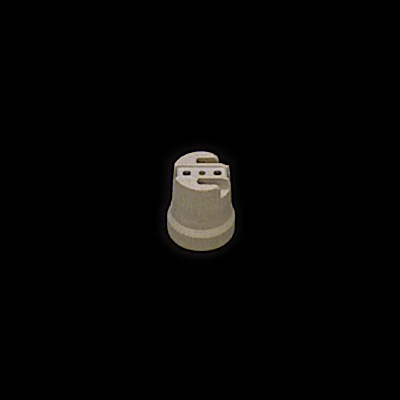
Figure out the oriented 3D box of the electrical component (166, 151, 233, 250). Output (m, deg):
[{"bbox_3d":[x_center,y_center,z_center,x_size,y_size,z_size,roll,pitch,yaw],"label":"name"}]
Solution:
[{"bbox_3d":[0.000,0.000,0.635,0.040,0.046,0.040,0,43,0],"label":"electrical component"}]
